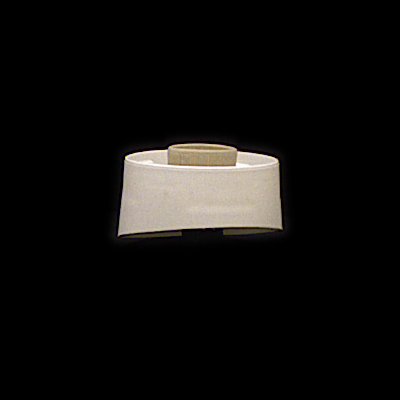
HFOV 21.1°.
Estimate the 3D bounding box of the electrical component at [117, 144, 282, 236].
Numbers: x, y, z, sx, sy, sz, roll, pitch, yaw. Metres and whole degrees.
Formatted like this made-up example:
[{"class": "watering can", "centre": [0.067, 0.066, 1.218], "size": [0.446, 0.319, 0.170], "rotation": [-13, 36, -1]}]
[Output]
[{"class": "electrical component", "centre": [0.000, 0.000, 0.643], "size": [0.099, 0.064, 0.098], "rotation": [1, 10, 0]}]
